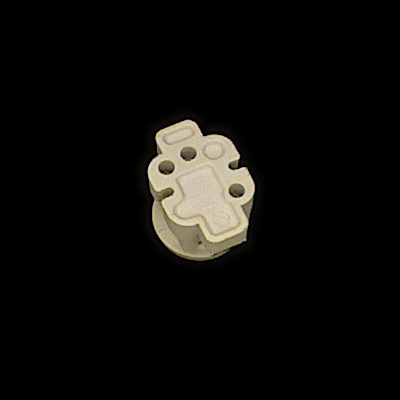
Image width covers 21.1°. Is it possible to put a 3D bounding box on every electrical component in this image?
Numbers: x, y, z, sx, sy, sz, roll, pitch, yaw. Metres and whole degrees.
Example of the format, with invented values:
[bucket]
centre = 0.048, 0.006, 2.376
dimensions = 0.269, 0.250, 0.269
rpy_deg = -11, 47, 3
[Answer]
[electrical component]
centre = 0.000, 0.000, 0.635
dimensions = 0.058, 0.078, 0.056
rpy_deg = -23, -23, -12
